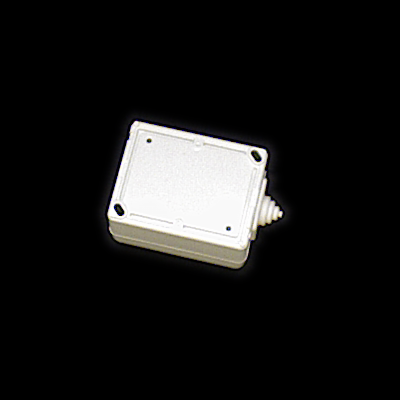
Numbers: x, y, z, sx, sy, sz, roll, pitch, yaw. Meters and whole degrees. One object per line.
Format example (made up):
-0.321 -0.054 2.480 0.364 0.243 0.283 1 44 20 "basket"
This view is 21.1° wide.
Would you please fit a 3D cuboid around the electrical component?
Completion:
0.000 0.000 0.626 0.096 0.062 0.060 12 -17 4 "electrical component"
